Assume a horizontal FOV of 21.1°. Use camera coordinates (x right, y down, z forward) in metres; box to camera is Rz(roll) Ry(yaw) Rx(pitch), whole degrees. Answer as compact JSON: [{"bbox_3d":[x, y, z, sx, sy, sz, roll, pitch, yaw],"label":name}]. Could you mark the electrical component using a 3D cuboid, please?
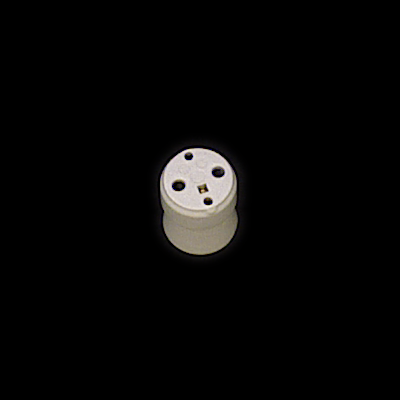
[{"bbox_3d":[0.000,0.000,0.628,0.045,0.045,0.055,0,-27,0],"label":"electrical component"}]
